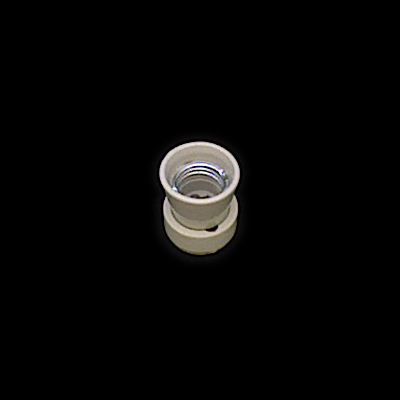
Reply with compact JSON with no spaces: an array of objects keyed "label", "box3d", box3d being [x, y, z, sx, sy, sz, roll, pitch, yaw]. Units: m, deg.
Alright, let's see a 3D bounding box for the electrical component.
[{"label":"electrical component","box3d":[0.000,0.000,0.628,0.045,0.044,0.055,0,-38,1]}]
